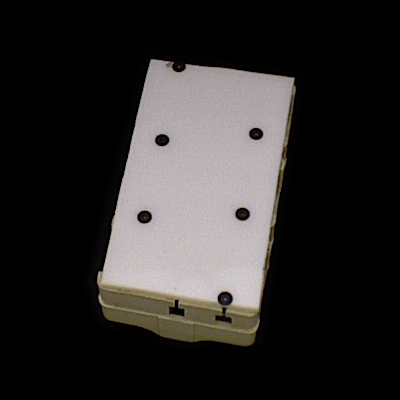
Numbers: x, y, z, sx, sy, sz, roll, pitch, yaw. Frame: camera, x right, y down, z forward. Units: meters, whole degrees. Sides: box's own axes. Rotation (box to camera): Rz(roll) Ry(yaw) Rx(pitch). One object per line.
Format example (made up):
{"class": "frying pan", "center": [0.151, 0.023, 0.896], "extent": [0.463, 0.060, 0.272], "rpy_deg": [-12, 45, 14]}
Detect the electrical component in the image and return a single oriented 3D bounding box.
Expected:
{"class": "electrical component", "center": [0.000, 0.000, 0.630], "extent": [0.089, 0.149, 0.062], "rpy_deg": [9, -26, 5]}
